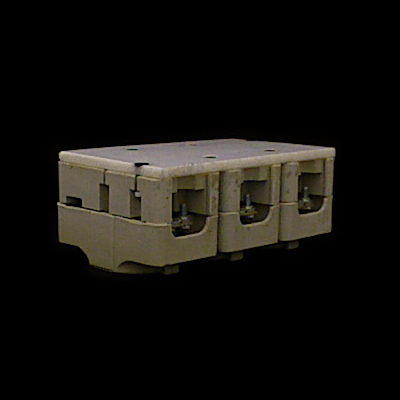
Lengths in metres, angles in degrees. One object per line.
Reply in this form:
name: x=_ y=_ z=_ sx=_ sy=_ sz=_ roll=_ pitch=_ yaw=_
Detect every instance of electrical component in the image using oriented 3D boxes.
electrical component: x=0.000 y=0.000 z=0.647 sx=0.089 sy=0.062 sz=0.149 roll=11 pitch=14 yaw=44
